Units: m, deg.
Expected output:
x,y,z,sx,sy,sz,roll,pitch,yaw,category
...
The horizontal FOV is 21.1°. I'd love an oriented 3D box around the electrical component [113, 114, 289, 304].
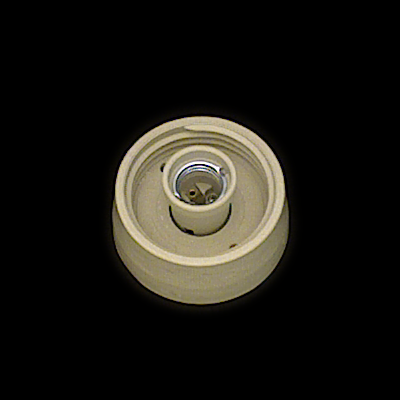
x,y,z,sx,sy,sz,roll,pitch,yaw,category
0.000,0.000,0.634,0.108,0.108,0.060,0,-27,0,electrical component
